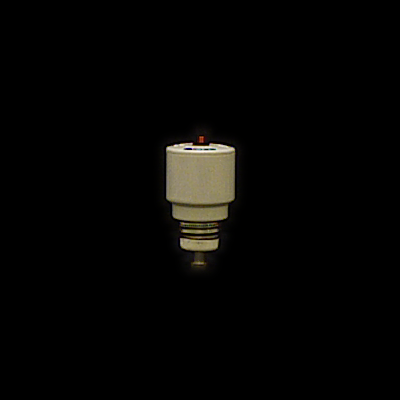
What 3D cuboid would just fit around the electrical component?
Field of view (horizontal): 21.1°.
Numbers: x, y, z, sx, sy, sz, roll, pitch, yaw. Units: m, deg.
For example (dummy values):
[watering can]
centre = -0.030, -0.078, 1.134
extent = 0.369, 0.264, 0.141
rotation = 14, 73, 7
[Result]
[electrical component]
centre = 0.000, 0.000, 0.644
extent = 0.040, 0.079, 0.040
rotation = 1, 11, 0
